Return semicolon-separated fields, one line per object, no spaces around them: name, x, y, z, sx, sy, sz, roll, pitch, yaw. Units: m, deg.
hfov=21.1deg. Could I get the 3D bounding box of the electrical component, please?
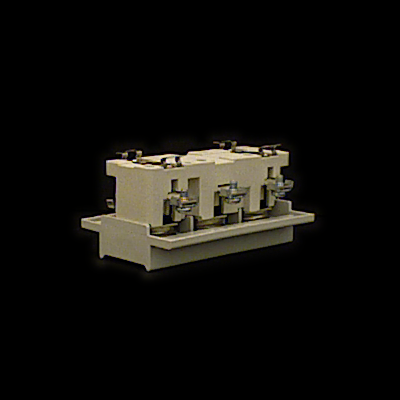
electrical component;0.000;0.000;0.653;0.122;0.063;0.077;-9;14;-44
